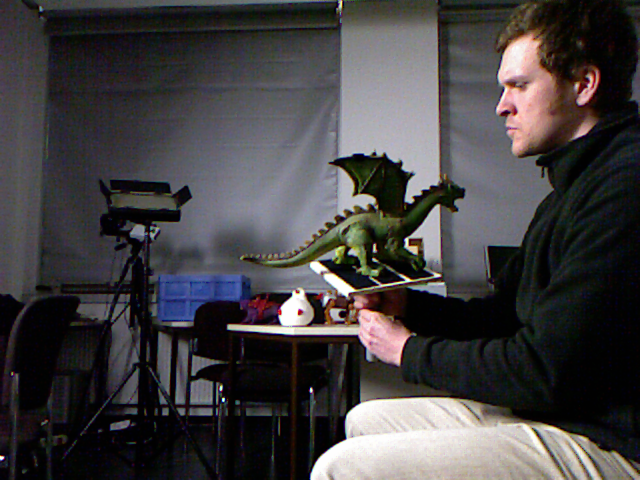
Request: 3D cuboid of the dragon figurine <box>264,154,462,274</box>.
[{"bbox_3d":[0.090,-0.056,1.029,0.412,0.239,0.124,-3,20,-8],"label":"dragon figurine"}]
